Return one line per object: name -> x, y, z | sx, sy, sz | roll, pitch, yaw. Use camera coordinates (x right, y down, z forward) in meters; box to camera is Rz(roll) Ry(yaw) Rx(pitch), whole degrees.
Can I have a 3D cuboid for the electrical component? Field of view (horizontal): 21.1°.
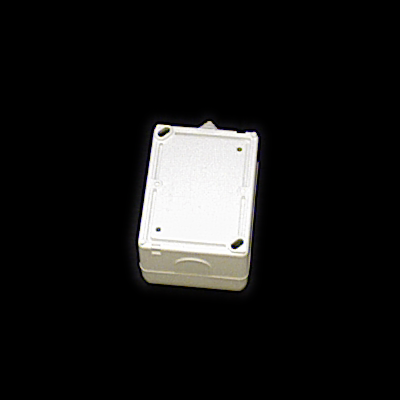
electrical component -> 0.000, 0.000, 0.630 | 0.062, 0.096, 0.061 | 5, -27, 3
